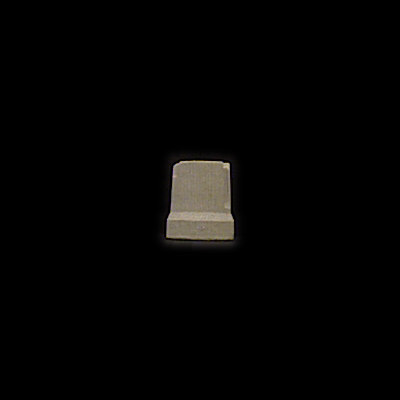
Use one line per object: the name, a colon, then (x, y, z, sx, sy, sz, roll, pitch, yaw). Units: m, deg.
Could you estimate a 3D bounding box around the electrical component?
electrical component: (0.000, 0.000, 0.651, 0.040, 0.046, 0.040, 2, 1, 0)
